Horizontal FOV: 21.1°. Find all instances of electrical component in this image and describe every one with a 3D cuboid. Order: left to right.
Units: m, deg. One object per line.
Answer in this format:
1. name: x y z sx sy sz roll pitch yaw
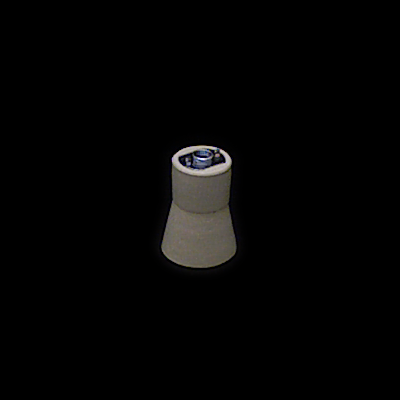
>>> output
1. electrical component: 0.000 0.000 0.631 0.044 0.066 0.044 1 32 -1
